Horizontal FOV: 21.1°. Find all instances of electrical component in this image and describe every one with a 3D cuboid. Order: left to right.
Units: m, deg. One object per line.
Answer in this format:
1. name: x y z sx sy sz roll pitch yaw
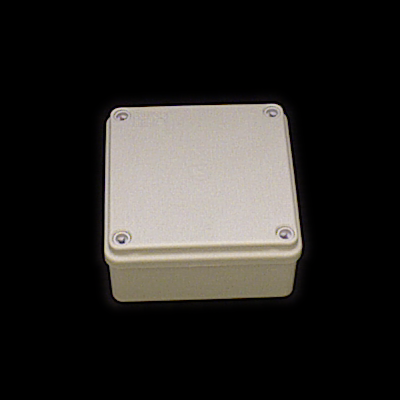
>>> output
1. electrical component: 0.000 0.000 0.629 0.109 0.108 0.056 -2 -37 -2
